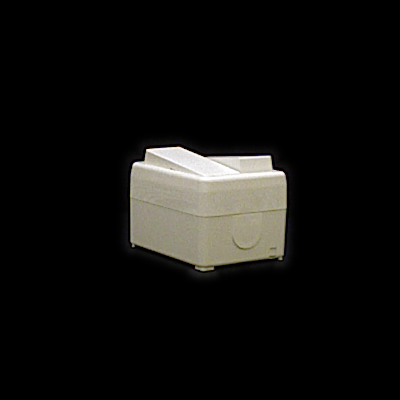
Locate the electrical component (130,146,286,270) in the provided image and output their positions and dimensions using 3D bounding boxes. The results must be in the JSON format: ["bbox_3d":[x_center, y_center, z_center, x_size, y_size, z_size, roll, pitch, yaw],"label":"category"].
[{"bbox_3d":[0.000,0.000,0.646,0.062,0.061,0.095,-6,13,-34],"label":"electrical component"}]
